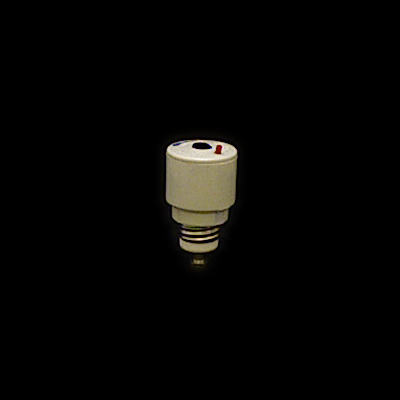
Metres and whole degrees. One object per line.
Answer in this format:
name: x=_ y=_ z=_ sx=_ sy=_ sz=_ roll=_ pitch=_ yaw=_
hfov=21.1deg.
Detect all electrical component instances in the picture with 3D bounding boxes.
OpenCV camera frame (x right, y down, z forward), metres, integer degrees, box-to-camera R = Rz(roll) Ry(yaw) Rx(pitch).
electrical component: x=0.000 y=0.000 z=0.633 sx=0.040 sy=0.079 sz=0.039 roll=1 pitch=21 yaw=0
